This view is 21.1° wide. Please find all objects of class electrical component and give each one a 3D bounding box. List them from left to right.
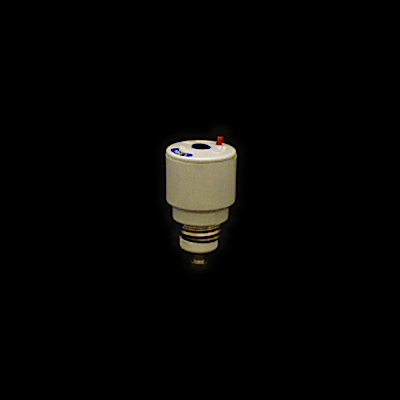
[{"bbox_3d":[0.000,0.000,0.636,0.040,0.079,0.039,1,21,0],"label":"electrical component"}]
